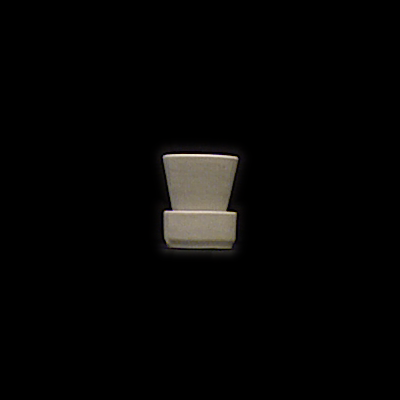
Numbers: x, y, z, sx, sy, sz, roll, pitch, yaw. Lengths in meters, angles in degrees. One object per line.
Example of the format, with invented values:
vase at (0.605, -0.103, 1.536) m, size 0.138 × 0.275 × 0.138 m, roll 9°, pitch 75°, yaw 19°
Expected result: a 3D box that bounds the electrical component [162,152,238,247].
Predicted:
electrical component at (0.000, 0.000, 0.649) m, size 0.045 × 0.055 × 0.045 m, roll 1°, pitch 0°, yaw 0°
